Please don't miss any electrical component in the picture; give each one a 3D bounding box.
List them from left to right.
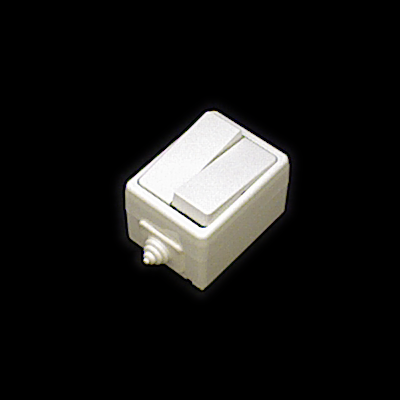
[{"bbox_3d":[0.000,0.000,0.627,0.061,0.061,0.096,34,59,24],"label":"electrical component"}]
